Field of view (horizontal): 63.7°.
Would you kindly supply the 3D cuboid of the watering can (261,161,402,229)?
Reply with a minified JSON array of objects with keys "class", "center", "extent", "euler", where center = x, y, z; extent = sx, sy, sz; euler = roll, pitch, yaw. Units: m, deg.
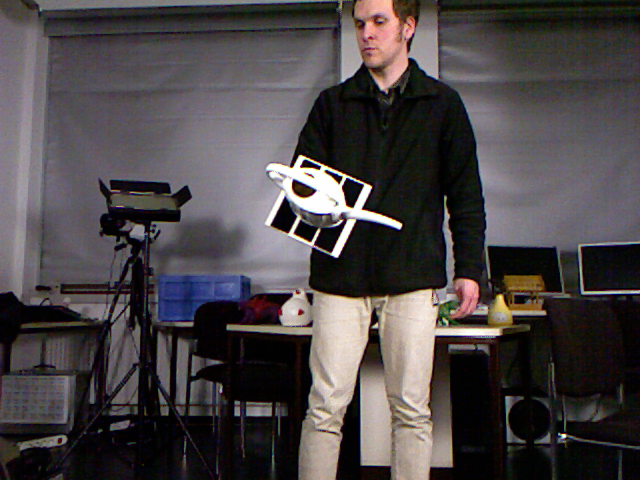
[{"class":"watering can","center":[0.021,-0.084,1.202],"extent":[0.349,0.105,0.222],"euler":[27,-10,9]}]
